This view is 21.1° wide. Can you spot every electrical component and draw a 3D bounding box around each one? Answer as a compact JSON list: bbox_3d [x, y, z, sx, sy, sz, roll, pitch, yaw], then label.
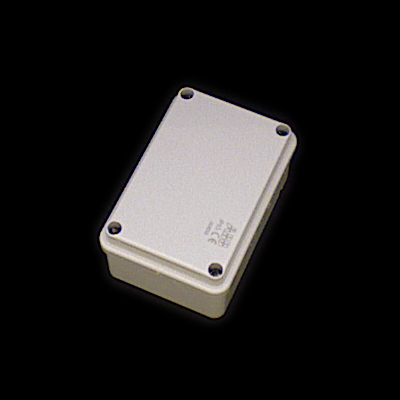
[{"bbox_3d":[0.000,0.000,0.627,0.078,0.113,0.057,22,-25,10],"label":"electrical component"}]
